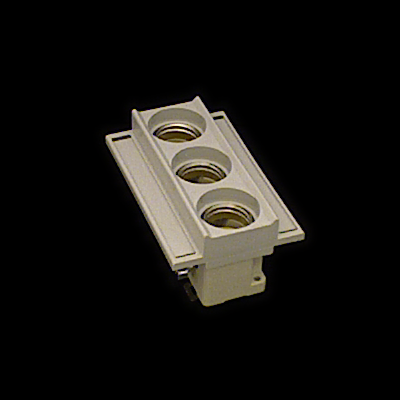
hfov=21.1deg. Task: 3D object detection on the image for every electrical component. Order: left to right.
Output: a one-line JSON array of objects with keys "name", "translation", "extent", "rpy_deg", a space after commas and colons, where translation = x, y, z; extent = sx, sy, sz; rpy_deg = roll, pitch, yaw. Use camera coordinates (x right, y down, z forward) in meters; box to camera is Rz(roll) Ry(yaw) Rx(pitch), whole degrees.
[{"name": "electrical component", "translation": [0.000, 0.000, 0.643], "extent": [0.079, 0.064, 0.119], "rpy_deg": [-13, 44, -17]}]
